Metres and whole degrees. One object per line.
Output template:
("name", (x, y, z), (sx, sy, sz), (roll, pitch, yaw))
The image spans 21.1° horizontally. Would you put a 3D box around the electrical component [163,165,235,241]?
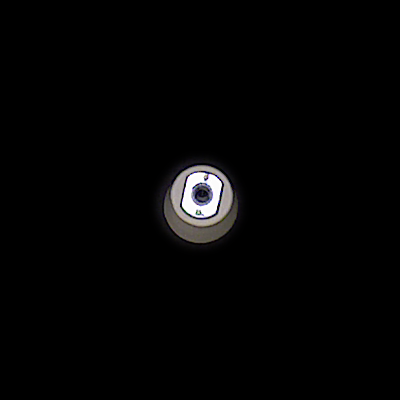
("electrical component", (0.000, 0.000, 0.625), (0.044, 0.044, 0.065), (0, -6, -1))
